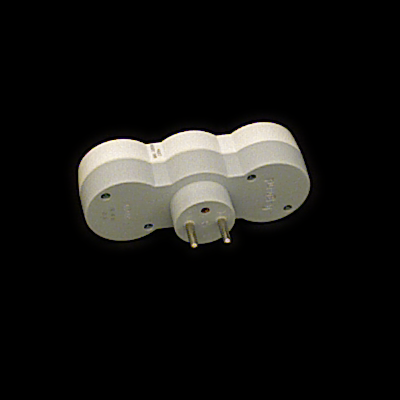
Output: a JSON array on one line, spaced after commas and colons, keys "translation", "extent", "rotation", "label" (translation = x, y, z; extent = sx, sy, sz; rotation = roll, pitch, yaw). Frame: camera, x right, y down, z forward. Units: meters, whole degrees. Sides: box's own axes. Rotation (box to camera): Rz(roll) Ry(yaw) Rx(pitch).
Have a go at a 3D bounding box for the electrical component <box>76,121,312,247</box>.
[{"translation": [0.000, 0.000, 0.638], "extent": [0.139, 0.052, 0.073], "rotation": [-7, 45, -9], "label": "electrical component"}]
